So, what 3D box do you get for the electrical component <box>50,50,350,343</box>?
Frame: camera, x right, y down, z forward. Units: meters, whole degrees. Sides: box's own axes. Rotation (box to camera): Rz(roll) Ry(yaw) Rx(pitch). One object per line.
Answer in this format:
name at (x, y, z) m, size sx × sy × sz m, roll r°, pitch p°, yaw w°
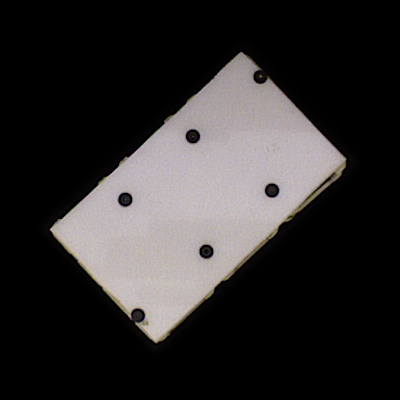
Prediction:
electrical component at (0.000, 0.000, 0.631) m, size 0.150 × 0.089 × 0.061 m, roll -43°, pitch -4°, yaw -4°
